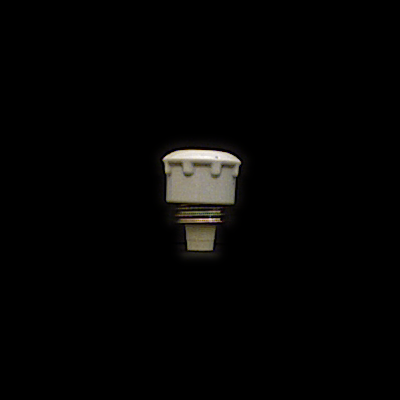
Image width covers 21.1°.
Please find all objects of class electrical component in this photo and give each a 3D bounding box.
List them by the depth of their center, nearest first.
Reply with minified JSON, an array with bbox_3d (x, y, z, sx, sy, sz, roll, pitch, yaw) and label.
[{"bbox_3d":[0.001,0.000,0.658,0.048,0.062,0.048,2,2,1],"label":"electrical component"}]
